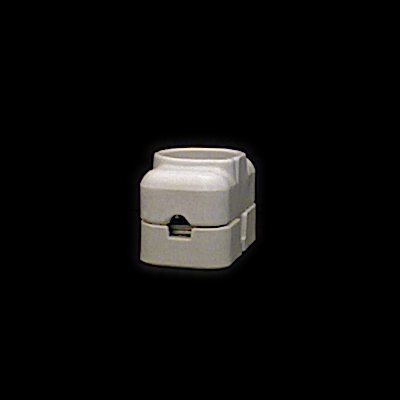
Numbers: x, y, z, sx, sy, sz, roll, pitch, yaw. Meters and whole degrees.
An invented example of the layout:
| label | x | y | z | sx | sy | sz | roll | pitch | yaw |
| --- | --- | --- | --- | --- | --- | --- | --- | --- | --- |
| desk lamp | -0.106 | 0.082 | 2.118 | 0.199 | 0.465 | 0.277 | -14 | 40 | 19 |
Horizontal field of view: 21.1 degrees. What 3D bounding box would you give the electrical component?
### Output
| label | x | y | z | sx | sy | sz | roll | pitch | yaw |
| --- | --- | --- | --- | --- | --- | --- | --- | --- | --- |
| electrical component | 0.000 | 0.000 | 0.650 | 0.053 | 0.060 | 0.095 | 4 | 12 | 14 |
